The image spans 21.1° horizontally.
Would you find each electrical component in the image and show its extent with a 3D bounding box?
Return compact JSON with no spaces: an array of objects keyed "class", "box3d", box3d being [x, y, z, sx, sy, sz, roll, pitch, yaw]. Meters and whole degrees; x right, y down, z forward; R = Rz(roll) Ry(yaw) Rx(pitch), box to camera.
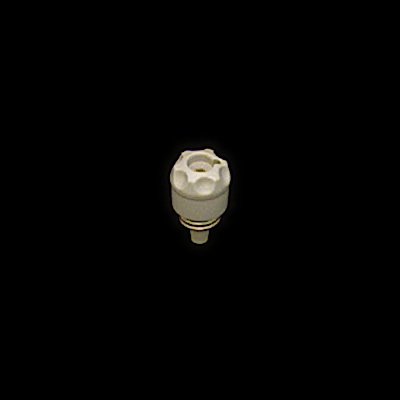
[{"class":"electrical component","box3d":[0.000,0.000,0.637,0.035,0.062,0.035,1,43,0]}]
